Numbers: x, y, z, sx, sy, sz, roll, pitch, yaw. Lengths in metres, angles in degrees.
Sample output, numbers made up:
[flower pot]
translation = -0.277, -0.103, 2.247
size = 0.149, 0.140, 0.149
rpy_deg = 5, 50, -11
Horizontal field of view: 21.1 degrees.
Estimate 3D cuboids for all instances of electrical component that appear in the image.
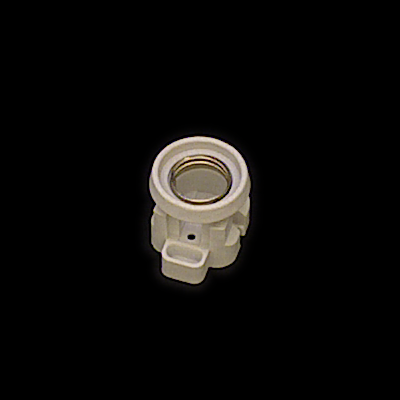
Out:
[electrical component]
translation = 0.000, 0.000, 0.630
size = 0.058, 0.078, 0.057
rpy_deg = 15, -36, 10
